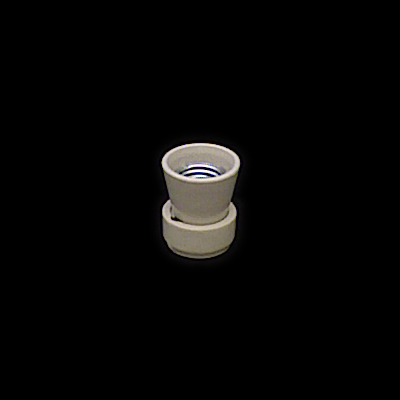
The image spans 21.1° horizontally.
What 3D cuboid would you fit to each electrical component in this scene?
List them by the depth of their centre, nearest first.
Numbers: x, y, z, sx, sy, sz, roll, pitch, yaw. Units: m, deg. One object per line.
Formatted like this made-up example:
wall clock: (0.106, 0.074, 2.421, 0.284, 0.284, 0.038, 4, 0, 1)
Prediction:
electrical component: (0.000, 0.000, 0.635, 0.045, 0.056, 0.044, 1, 32, 0)
